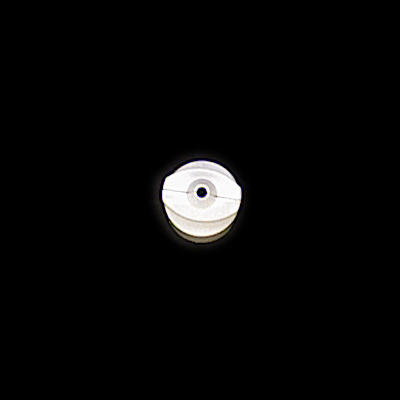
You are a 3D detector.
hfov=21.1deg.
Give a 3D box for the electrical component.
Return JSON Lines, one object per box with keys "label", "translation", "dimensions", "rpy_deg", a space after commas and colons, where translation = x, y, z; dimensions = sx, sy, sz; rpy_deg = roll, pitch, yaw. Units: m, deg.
{"label": "electrical component", "translation": [0.000, 0.000, 0.616], "dimensions": [0.043, 0.043, 0.080], "rpy_deg": [0, -6, 1]}
